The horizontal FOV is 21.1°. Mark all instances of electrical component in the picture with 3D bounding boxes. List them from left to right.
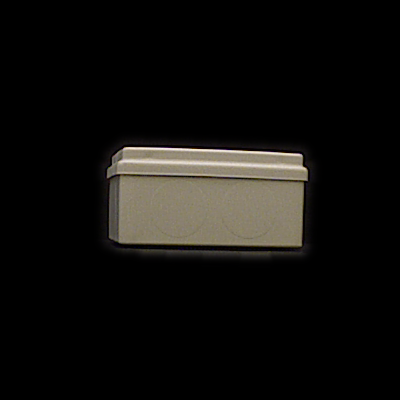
[{"bbox_3d":[0.000,0.000,0.651,0.109,0.056,0.108,2,0,-9],"label":"electrical component"}]
